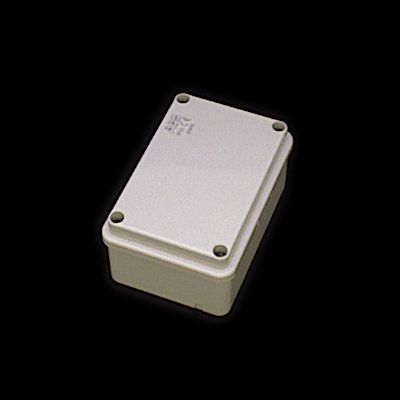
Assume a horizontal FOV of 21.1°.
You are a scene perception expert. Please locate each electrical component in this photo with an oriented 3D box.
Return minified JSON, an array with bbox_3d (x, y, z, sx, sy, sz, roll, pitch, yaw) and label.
[{"bbox_3d":[0.000,0.000,0.629,0.078,0.113,0.057,17,-35,13],"label":"electrical component"}]
